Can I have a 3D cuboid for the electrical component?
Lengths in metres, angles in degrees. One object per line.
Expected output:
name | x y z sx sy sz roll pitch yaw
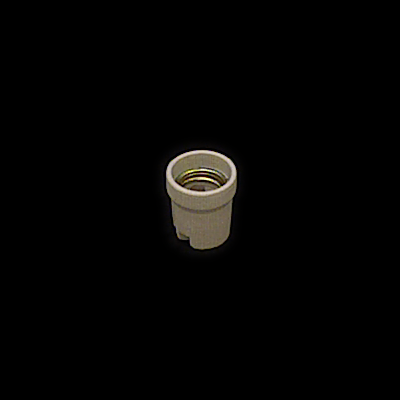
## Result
electrical component | 0.000 0.000 0.632 0.040 0.047 0.039 1 42 0
